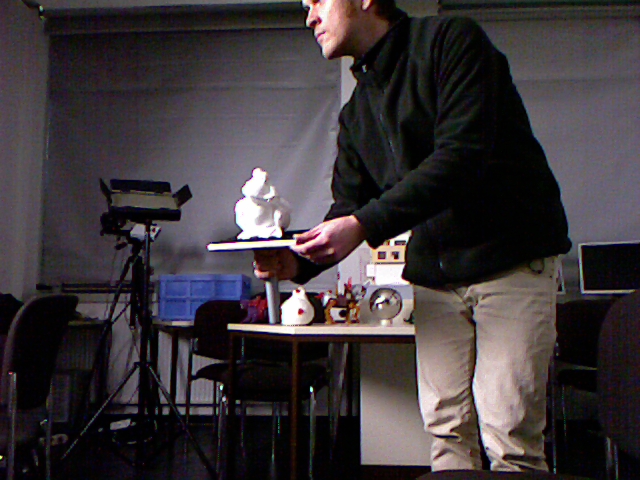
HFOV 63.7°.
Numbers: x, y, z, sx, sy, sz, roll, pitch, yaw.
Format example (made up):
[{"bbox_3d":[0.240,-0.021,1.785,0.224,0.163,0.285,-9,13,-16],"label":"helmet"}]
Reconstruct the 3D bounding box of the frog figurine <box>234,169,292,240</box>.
[{"bbox_3d":[-0.134,-0.084,1.169,0.137,0.158,0.124,3,13,33],"label":"frog figurine"}]
